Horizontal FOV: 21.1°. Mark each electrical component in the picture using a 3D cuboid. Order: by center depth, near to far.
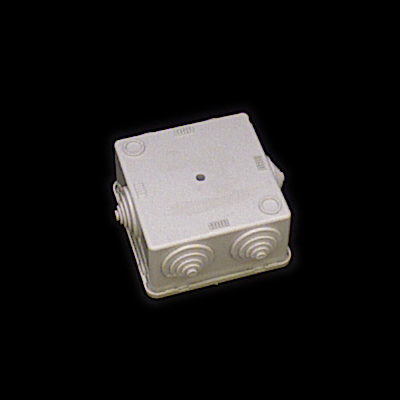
[{"bbox_3d":[0.000,0.000,0.633,0.100,0.099,0.049,-13,-36,-11],"label":"electrical component"}]
